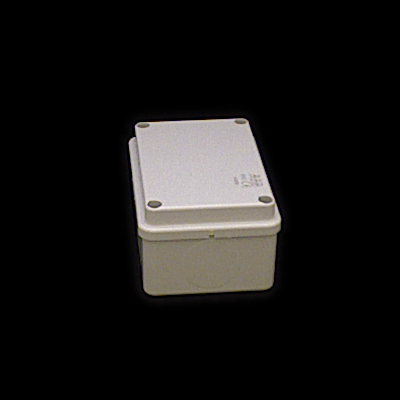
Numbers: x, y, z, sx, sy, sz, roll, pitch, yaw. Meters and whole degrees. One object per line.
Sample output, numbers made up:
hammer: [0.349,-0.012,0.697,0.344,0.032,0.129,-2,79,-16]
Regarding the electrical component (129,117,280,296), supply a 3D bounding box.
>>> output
electrical component: [0.000,0.000,0.635,0.078,0.058,0.111,-3,31,-6]
